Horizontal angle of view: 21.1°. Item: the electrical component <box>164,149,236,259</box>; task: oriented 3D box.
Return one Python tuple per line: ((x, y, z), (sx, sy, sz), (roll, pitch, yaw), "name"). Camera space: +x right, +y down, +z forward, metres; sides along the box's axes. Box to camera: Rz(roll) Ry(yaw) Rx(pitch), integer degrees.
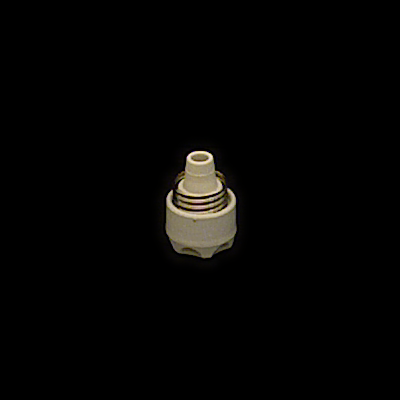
((0.000, 0.000, 0.641), (0.043, 0.063, 0.043), (0, 33, 1), "electrical component")
